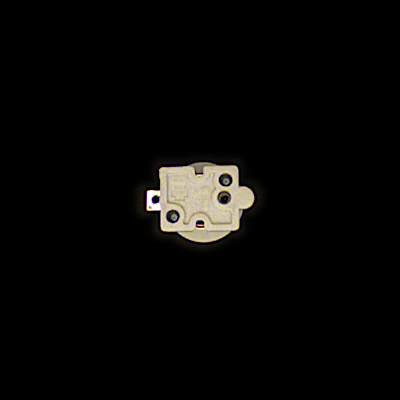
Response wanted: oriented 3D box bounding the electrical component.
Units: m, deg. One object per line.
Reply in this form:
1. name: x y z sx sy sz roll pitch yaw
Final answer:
1. electrical component: 0.000 0.000 0.639 0.066 0.048 0.055 -1 -4 1
